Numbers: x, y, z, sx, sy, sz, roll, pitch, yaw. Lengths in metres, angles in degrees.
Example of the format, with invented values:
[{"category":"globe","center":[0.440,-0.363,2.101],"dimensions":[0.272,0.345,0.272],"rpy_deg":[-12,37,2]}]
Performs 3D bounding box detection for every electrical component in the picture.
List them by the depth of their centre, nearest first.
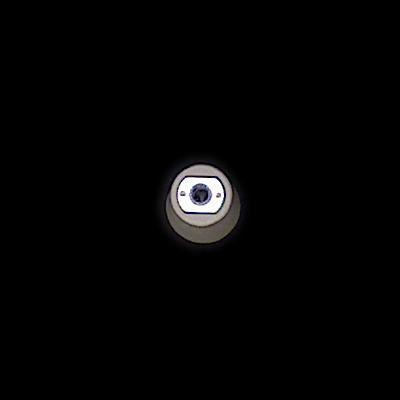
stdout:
[{"category":"electrical component","center":[0.000,0.000,0.626],"dimensions":[0.044,0.044,0.065],"rpy_deg":[0,-7,1]}]
